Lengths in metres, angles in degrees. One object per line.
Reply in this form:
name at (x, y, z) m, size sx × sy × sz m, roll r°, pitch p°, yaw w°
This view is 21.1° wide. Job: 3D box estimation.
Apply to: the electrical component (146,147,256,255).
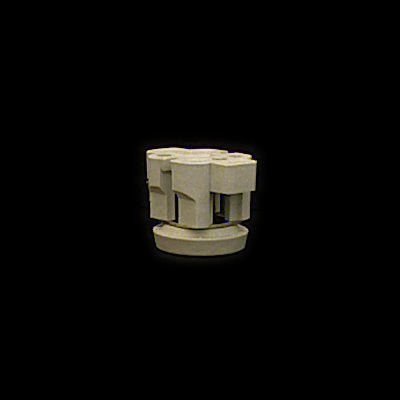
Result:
electrical component at (0.000, 0.000, 0.651) m, size 0.058 × 0.057 × 0.077 m, roll -10°, pitch 15°, yaw -42°
